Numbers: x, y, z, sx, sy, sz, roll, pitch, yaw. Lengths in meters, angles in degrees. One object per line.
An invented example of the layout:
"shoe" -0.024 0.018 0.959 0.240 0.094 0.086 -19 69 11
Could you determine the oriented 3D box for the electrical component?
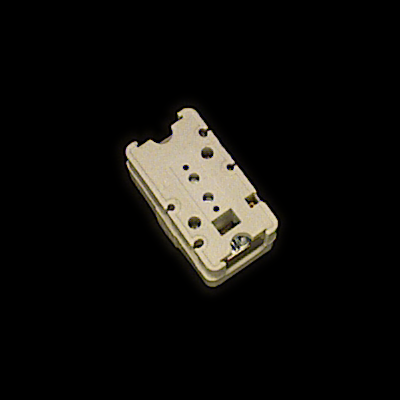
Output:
"electrical component" 0.000 0.000 0.636 0.050 0.089 0.055 -34 -13 -9
